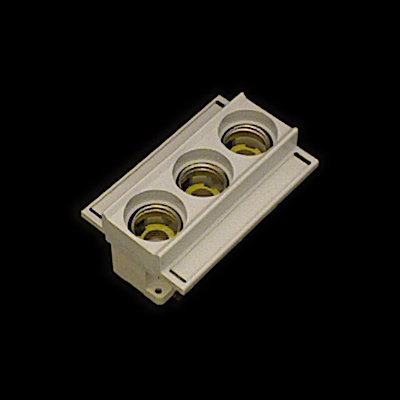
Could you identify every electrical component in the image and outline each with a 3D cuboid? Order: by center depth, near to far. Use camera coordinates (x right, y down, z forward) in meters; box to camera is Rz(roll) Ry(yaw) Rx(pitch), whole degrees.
[{"bbox_3d":[0.000,0.000,0.639,0.078,0.121,0.063,36,-29,22],"label":"electrical component"}]
